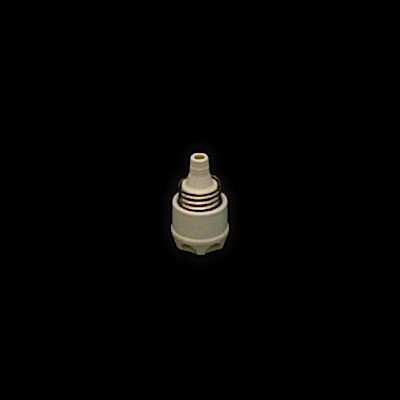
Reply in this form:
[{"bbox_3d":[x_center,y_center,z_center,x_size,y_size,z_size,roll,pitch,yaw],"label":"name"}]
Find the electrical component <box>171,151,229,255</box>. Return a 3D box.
[{"bbox_3d":[0.000,0.000,0.645,0.035,0.062,0.034,0,31,0],"label":"electrical component"}]
